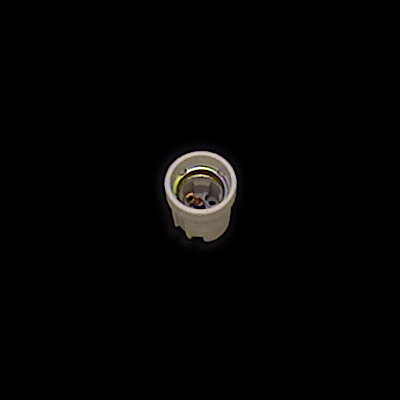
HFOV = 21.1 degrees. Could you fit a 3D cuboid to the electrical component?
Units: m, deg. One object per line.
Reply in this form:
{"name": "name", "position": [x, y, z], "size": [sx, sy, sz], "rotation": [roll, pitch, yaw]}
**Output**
{"name": "electrical component", "position": [0.000, 0.000, 0.627], "size": [0.040, 0.040, 0.046], "rotation": [0, -27, 0]}
